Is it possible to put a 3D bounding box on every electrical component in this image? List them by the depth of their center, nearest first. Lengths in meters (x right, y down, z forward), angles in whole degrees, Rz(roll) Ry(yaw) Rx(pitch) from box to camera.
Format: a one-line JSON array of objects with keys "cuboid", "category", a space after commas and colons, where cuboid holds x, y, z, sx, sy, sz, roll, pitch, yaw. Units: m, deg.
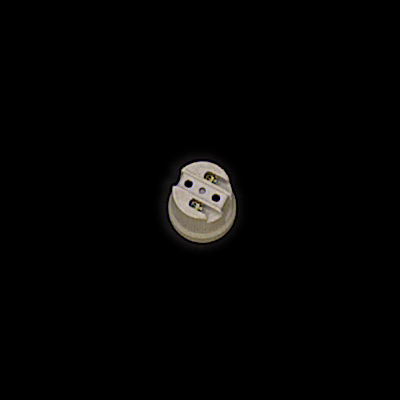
[{"cuboid": [0.000, 0.000, 0.633, 0.040, 0.040, 0.046, 0, -16, 1], "category": "electrical component"}]
